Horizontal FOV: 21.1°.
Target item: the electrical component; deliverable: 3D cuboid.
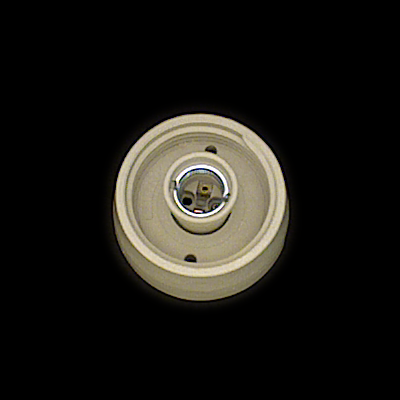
[{"bbox_3d":[0.000,0.000,0.634,0.108,0.108,0.060,0,-16,0],"label":"electrical component"}]
